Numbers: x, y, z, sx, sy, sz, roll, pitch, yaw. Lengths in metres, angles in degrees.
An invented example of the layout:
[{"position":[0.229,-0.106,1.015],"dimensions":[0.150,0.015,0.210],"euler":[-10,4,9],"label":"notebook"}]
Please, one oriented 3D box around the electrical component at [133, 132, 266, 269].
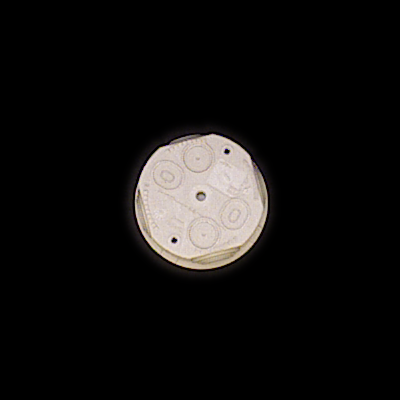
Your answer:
[{"position":[0.000,0.000,0.633],"dimensions":[0.080,0.080,0.050],"euler":[0,-7,0],"label":"electrical component"}]
